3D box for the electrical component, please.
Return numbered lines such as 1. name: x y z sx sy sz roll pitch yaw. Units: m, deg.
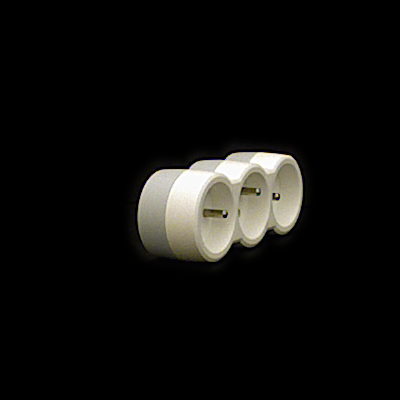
1. electrical component: 0.000 0.000 0.654 0.073 0.052 0.139 6 12 30
